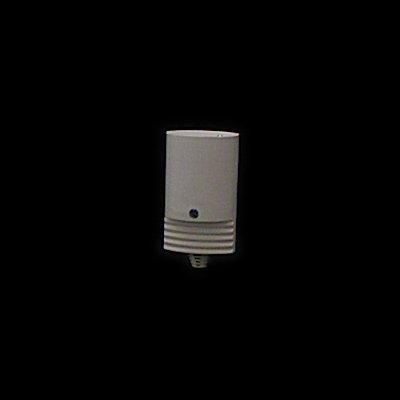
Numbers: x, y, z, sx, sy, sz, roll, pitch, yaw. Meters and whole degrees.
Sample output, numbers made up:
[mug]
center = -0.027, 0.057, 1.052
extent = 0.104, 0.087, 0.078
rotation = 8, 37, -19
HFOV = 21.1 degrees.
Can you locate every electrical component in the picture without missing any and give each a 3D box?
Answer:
[electrical component]
center = 0.000, 0.000, 0.644
extent = 0.043, 0.082, 0.042
rotation = 2, 12, 0
